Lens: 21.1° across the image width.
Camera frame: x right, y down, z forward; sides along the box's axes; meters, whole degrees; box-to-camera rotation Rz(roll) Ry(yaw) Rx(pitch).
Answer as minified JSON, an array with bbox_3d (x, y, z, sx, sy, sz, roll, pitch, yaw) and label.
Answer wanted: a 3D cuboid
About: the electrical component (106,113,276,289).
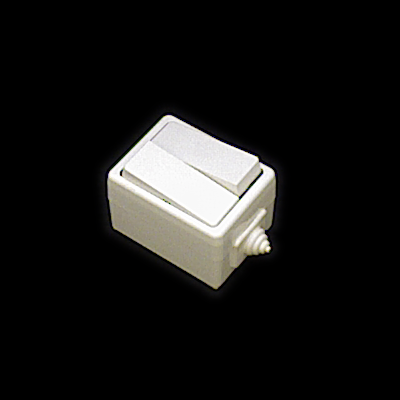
[{"bbox_3d":[0.000,0.000,0.627,0.096,0.062,0.061,30,-32,21],"label":"electrical component"}]
